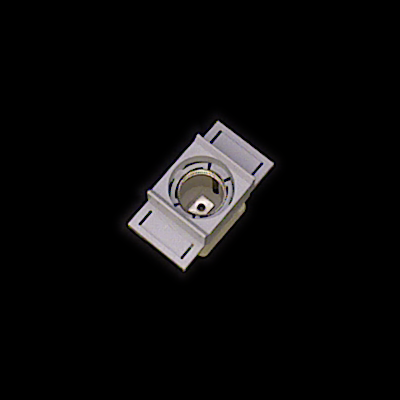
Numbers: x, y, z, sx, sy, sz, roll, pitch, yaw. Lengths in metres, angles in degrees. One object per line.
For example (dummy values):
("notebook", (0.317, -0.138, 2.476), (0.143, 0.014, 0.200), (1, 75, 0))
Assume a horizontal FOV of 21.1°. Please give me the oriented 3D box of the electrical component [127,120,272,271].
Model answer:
("electrical component", (0.000, 0.000, 0.623), (0.042, 0.081, 0.063), (39, -13, 10))
